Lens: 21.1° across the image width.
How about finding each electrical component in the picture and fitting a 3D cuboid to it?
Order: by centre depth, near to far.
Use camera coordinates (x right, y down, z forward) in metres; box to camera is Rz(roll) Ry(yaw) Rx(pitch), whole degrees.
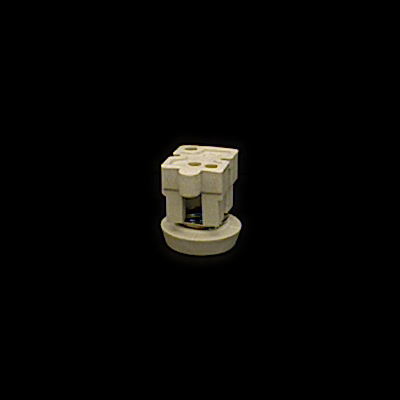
[{"bbox_3d":[0.000,0.000,0.646,0.048,0.056,0.066,5,21,14],"label":"electrical component"}]
